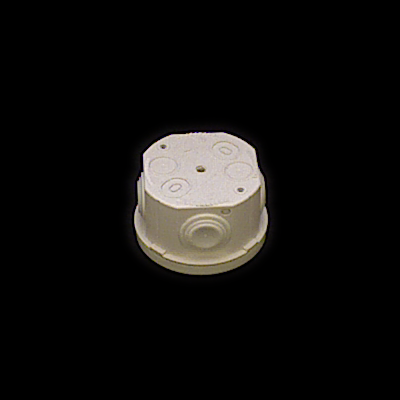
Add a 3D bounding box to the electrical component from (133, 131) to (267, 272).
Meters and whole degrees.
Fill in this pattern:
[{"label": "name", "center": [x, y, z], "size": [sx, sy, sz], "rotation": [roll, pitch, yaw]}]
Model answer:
[{"label": "electrical component", "center": [0.000, 0.000, 0.635], "size": [0.080, 0.051, 0.080], "rotation": [0, 42, 0]}]
